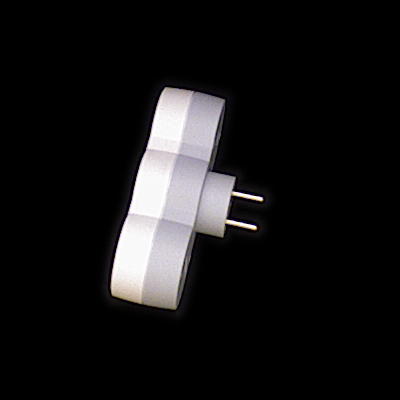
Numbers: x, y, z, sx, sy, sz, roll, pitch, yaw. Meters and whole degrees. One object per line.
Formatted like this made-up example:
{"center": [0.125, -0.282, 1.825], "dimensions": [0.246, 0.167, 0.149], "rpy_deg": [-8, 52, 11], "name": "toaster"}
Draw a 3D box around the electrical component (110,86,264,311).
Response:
{"center": [0.000, 0.000, 0.632], "dimensions": [0.074, 0.138, 0.052], "rpy_deg": [12, -27, 4], "name": "electrical component"}
